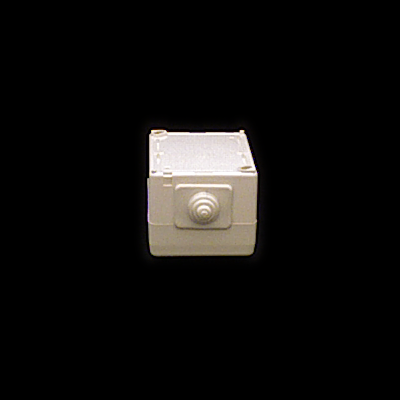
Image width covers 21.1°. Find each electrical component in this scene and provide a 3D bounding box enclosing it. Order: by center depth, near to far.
[{"bbox_3d":[0.000,0.000,0.638,0.062,0.061,0.095,0,21,-3],"label":"electrical component"}]
